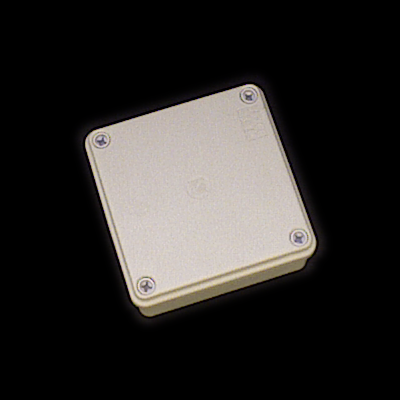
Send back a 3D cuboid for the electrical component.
[{"bbox_3d":[0.000,0.000,0.629,0.109,0.109,0.056,-17,-16,-5],"label":"electrical component"}]
